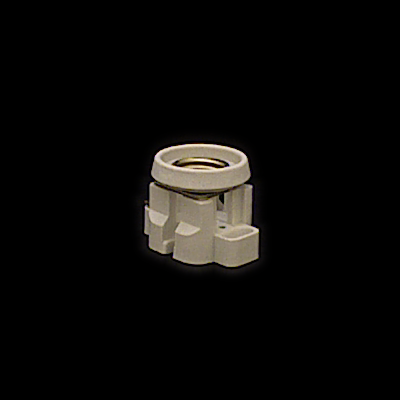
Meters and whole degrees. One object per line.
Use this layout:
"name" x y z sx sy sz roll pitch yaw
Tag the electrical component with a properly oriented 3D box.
"electrical component" 0.000 0.000 0.639 0.077 0.057 0.058 20 28 41
